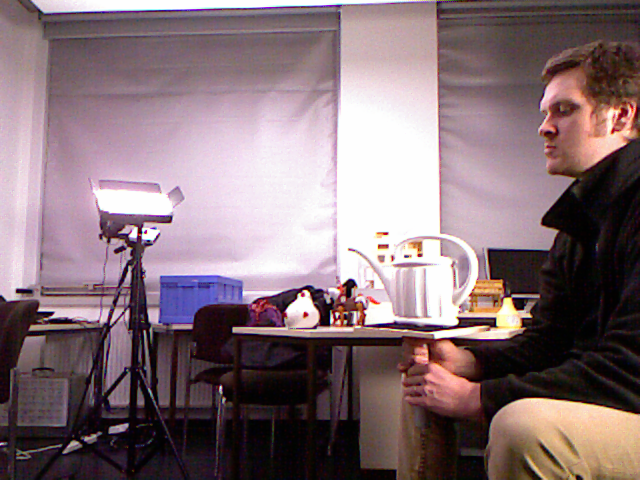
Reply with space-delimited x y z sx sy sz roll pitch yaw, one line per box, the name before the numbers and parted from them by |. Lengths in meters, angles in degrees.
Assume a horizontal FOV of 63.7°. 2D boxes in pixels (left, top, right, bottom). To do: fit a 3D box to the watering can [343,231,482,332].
watering can | 0.191 0.095 1.125 0.347 0.225 0.104 -2 -2 43
